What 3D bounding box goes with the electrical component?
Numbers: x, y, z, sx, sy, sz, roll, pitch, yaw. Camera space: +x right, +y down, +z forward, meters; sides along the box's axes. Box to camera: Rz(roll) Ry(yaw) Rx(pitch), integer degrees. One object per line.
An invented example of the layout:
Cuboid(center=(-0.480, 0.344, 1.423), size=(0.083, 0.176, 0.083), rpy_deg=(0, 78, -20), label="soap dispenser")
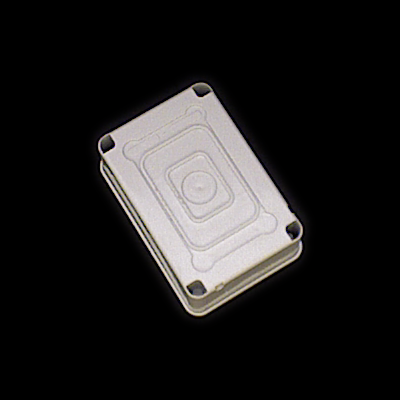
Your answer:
Cuboid(center=(0.000, 0.000, 0.627), size=(0.078, 0.113, 0.057), rpy_deg=(-30, -15, -9), label="electrical component")
